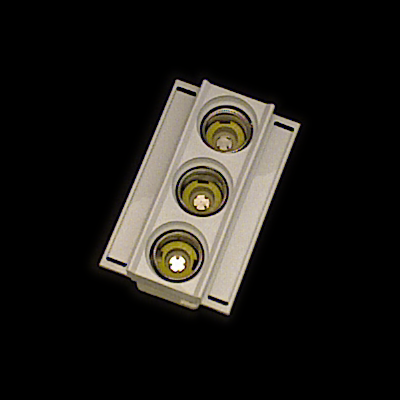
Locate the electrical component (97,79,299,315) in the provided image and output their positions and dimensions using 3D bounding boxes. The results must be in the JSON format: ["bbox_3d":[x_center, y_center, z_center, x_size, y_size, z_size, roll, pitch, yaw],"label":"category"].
[{"bbox_3d":[0.000,0.000,0.637,0.079,0.122,0.063,21,-15,5],"label":"electrical component"}]
